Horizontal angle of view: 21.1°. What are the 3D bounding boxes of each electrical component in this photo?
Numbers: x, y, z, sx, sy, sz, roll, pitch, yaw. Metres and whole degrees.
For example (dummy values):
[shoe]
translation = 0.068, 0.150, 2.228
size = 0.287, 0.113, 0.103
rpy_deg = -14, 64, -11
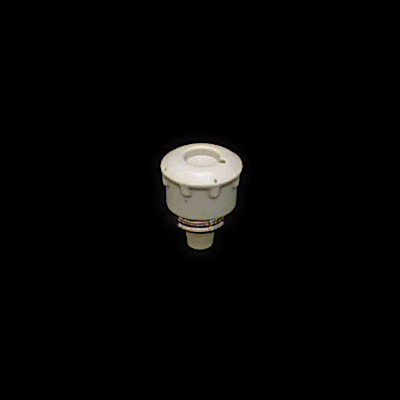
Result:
[electrical component]
translation = 0.000, 0.000, 0.643
size = 0.048, 0.063, 0.047
rpy_deg = 1, 32, 0
